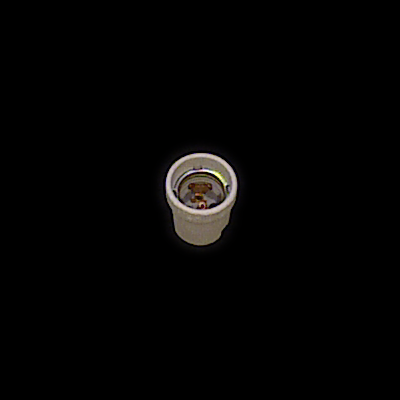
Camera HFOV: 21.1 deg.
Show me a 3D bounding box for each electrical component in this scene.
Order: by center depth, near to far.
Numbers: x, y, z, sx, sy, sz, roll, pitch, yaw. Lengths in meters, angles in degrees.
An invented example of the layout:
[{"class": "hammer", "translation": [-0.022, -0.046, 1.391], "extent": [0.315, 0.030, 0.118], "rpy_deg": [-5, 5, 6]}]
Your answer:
[{"class": "electrical component", "translation": [0.000, 0.000, 0.628], "extent": [0.040, 0.040, 0.046], "rpy_deg": [0, -27, -1]}]
